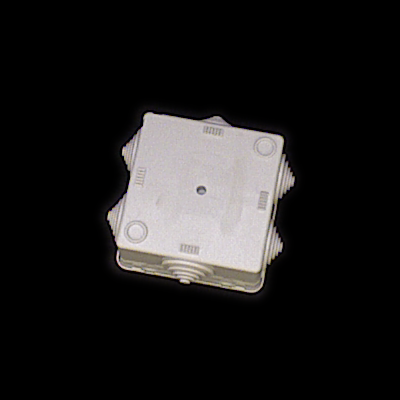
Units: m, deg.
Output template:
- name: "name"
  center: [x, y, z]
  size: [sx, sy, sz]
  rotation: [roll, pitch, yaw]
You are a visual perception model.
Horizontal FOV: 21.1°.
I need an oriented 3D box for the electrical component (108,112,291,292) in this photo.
- name: "electrical component"
  center: [0.000, 0.000, 0.632]
  size: [0.100, 0.100, 0.048]
  rotation: [11, -16, 3]
